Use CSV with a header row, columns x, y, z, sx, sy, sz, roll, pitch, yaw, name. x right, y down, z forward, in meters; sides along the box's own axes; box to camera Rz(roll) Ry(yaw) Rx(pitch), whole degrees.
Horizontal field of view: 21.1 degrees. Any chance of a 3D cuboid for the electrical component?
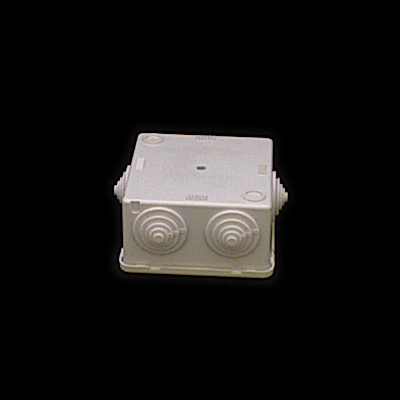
x,y,z,sx,sy,sz,roll,pitch,yaw,name
0.000,0.000,0.637,0.100,0.049,0.098,3,31,2,electrical component
